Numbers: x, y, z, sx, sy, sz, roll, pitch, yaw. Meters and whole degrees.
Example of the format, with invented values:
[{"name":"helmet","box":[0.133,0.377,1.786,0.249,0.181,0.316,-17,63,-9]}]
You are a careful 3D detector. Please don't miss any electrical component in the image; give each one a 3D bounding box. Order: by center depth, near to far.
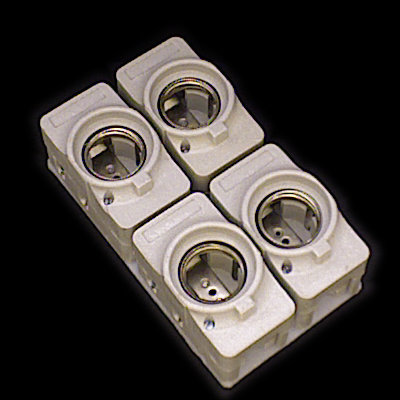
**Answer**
[{"name":"electrical component","box":[0.000,0.000,0.626,0.106,0.186,0.060,-34,-22,-16]}]
